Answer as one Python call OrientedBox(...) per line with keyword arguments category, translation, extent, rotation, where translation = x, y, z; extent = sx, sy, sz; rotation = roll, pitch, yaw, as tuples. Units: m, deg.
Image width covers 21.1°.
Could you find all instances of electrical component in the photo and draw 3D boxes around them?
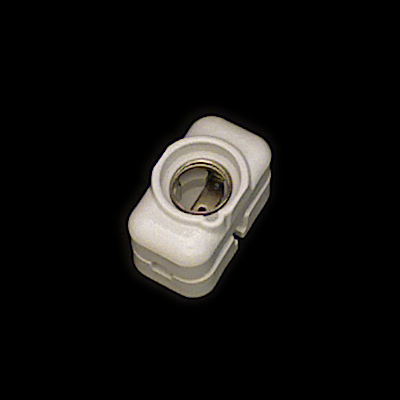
OrientedBox(category="electrical component", translation=(0.000, 0.000, 0.633), extent=(0.053, 0.095, 0.059), rotation=(27, -23, 13))
